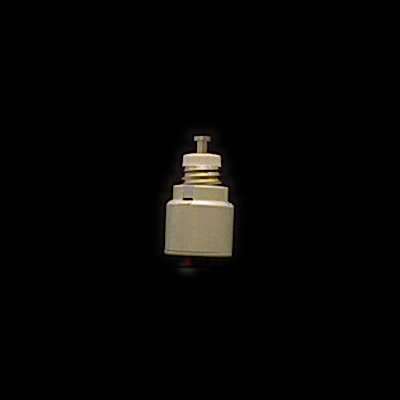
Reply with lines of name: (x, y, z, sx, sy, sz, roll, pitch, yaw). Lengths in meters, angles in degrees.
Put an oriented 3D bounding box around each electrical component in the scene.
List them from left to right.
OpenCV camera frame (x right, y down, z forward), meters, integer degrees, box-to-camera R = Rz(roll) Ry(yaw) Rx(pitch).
electrical component: (0.000, 0.000, 0.650, 0.040, 0.078, 0.040, 2, 1, 0)
